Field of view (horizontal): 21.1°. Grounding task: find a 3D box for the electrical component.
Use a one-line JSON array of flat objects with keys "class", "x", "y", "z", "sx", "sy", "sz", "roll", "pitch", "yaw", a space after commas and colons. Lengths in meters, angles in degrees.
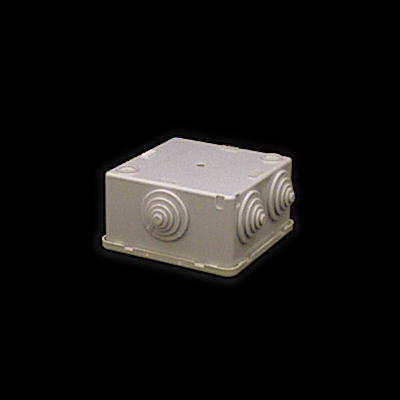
[{"class": "electrical component", "x": 0.000, "y": 0.000, "z": 0.640, "sx": 0.099, "sy": 0.049, "sz": 0.099, "roll": 12, "pitch": 23, "yaw": 26}]
